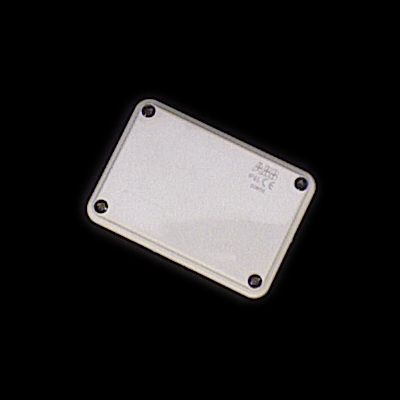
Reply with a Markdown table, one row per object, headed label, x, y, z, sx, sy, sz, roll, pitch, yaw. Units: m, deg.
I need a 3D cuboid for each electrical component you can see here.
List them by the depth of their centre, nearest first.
| label | x | y | z | sx | sy | sz | roll | pitch | yaw |
| --- | --- | --- | --- | --- | --- | --- | --- | --- | --- |
| electrical component | 0.000 | 0.000 | 0.628 | 0.113 | 0.078 | 0.057 | 26 | -6 | 3 |
